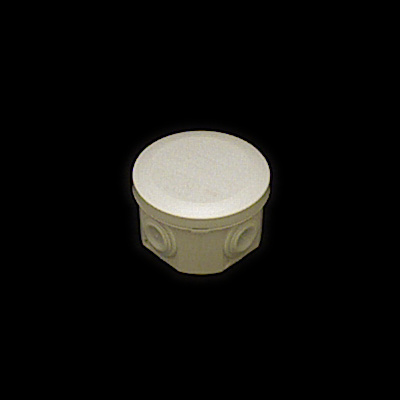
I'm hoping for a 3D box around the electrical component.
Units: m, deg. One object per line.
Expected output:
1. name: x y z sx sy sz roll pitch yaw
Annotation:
1. electrical component: 0.000 0.000 0.634 0.080 0.051 0.079 1 42 0
